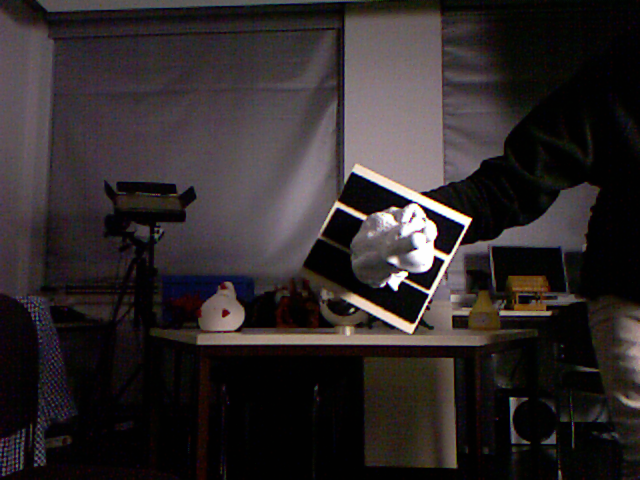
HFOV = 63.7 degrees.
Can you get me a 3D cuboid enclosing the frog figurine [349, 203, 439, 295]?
[{"bbox_3d":[0.101,0.009,0.736,0.123,0.138,0.158,45,-3,9],"label":"frog figurine"}]
